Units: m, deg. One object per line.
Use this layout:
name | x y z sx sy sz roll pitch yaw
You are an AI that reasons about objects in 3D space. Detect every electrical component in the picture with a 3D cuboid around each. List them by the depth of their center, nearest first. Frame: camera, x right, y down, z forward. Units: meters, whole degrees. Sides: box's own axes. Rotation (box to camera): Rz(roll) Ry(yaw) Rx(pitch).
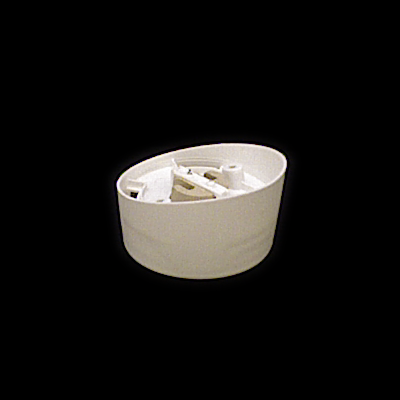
electrical component | 0.000 0.000 0.633 0.099 0.065 0.097 2 31 -1
